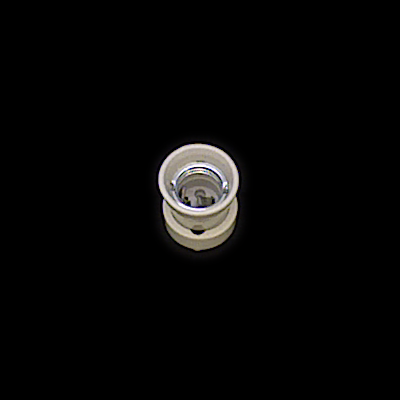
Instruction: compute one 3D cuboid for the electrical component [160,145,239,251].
[{"bbox_3d":[0.000,0.000,0.627,0.045,0.045,0.055,0,-27,0],"label":"electrical component"}]
